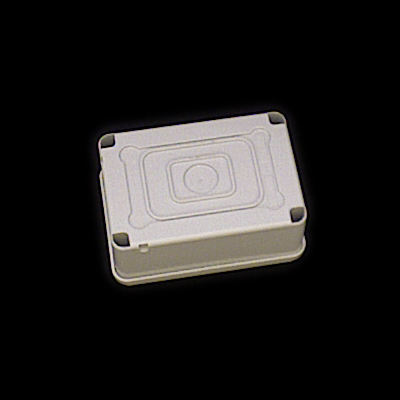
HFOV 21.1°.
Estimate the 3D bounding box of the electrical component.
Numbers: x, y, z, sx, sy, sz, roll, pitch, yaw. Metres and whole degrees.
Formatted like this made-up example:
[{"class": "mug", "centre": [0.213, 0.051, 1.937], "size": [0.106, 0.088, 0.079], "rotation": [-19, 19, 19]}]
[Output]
[{"class": "electrical component", "centre": [0.000, 0.000, 0.628], "size": [0.113, 0.078, 0.057], "rotation": [-8, -27, -5]}]
